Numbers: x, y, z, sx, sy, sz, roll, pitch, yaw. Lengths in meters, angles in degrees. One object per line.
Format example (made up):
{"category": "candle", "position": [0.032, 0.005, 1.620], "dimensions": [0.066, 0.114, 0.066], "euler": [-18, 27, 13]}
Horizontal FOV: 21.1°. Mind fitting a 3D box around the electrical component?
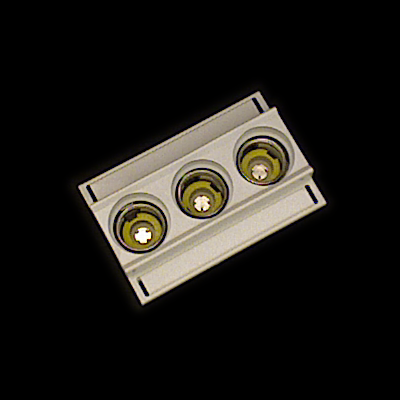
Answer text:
{"category": "electrical component", "position": [0.000, 0.000, 0.637], "dimensions": [0.122, 0.079, 0.063], "euler": [-28, -13, -7]}
